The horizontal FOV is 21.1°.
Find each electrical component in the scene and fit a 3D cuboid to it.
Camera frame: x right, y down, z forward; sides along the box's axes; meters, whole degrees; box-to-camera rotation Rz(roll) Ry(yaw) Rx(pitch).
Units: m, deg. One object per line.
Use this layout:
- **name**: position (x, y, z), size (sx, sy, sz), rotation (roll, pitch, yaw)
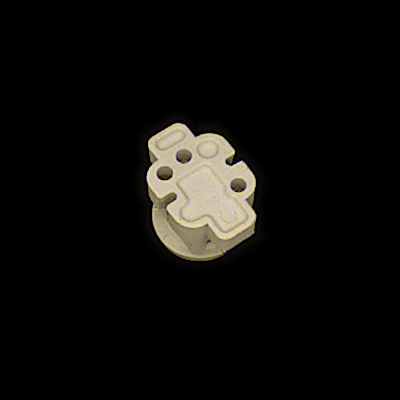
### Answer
- **electrical component**: position (0.000, 0.000, 0.635), size (0.058, 0.078, 0.056), rotation (-33, -20, -16)
